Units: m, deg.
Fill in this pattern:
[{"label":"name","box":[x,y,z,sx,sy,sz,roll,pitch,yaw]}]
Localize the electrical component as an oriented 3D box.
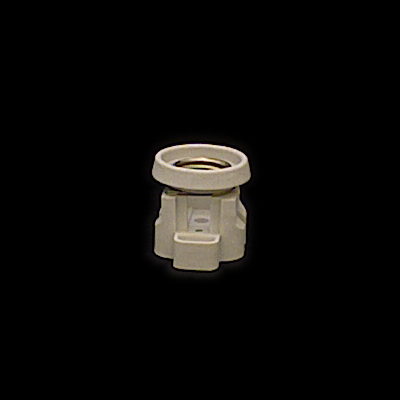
[{"label":"electrical component","box":[0.000,0.000,0.641,0.058,0.057,0.077,3,21,4]}]
